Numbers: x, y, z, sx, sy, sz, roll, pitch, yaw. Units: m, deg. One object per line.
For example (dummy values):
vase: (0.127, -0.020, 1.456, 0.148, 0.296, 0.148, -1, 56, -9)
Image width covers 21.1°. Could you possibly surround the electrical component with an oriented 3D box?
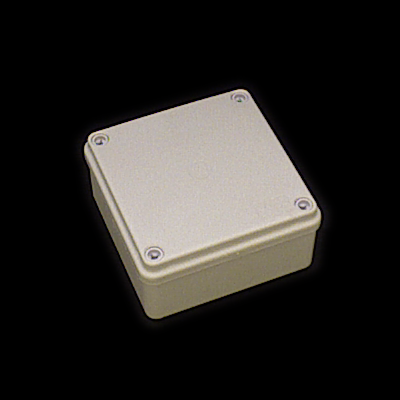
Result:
electrical component: (0.000, 0.000, 0.631, 0.109, 0.108, 0.056, -18, -36, -14)
